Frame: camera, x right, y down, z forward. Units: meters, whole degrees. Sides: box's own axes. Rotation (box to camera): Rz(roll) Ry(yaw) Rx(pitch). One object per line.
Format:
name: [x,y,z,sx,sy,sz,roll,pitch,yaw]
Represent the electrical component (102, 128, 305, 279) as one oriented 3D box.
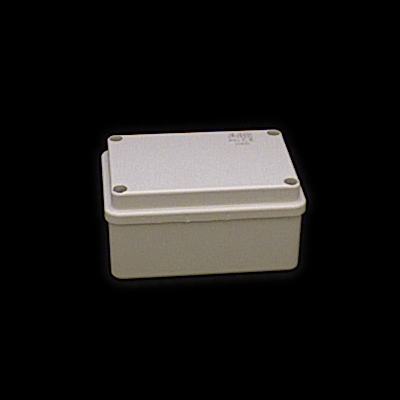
electrical component: [0.000,0.000,0.637,0.113,0.058,0.077,-3,31,-6]
